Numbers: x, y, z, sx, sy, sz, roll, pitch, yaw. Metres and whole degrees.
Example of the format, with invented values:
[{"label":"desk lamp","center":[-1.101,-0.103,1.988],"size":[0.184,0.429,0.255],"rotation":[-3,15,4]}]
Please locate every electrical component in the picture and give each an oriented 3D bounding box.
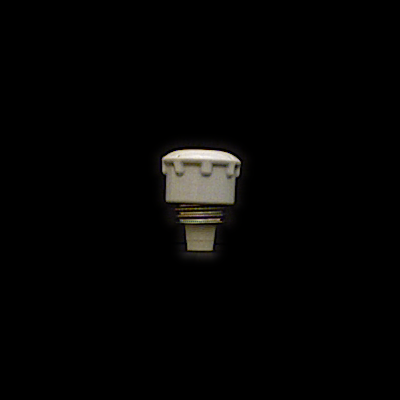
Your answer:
[{"label":"electrical component","center":[0.000,0.000,0.656],"size":[0.048,0.062,0.048],"rotation":[2,2,1]}]
